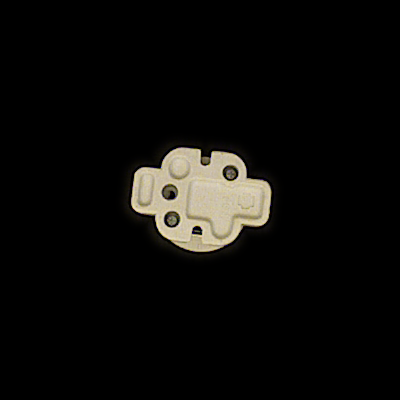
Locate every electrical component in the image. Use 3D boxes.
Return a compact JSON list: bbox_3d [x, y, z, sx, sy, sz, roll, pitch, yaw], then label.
[{"bbox_3d":[0.000,0.000,0.637,0.078,0.058,0.056,5,-6,0],"label":"electrical component"}]
